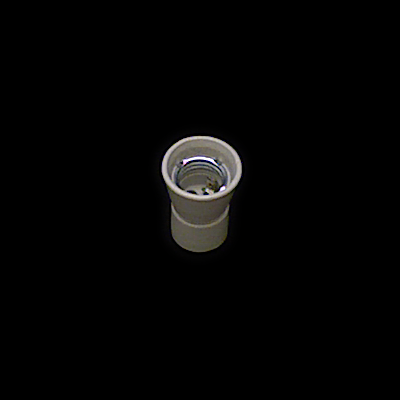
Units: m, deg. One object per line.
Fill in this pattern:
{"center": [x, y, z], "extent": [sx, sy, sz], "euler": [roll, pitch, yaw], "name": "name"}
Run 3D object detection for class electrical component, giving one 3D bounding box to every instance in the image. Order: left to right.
{"center": [0.000, 0.000, 0.626], "extent": [0.044, 0.044, 0.065], "euler": [0, -37, -2], "name": "electrical component"}
